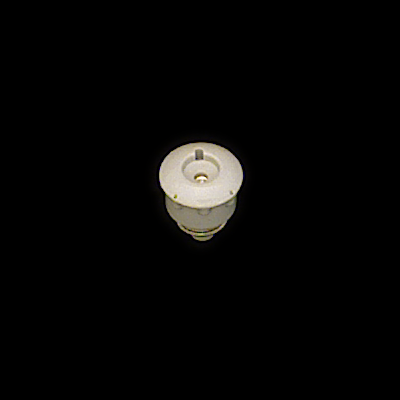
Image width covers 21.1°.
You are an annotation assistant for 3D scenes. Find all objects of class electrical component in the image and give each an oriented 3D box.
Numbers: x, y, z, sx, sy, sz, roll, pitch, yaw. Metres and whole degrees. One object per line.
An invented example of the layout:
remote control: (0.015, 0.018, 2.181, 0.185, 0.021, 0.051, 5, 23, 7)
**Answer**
electrical component: (0.000, 0.000, 0.635, 0.048, 0.048, 0.062, 0, -37, 0)
